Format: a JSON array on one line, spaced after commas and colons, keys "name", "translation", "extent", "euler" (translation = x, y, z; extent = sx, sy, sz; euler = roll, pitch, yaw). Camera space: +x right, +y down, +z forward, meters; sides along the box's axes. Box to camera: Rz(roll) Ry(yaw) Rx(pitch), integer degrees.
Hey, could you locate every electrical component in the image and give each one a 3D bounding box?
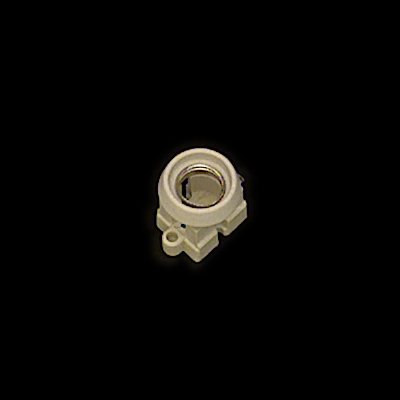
[{"name": "electrical component", "translation": [0.000, 0.000, 0.638], "extent": [0.048, 0.067, 0.055], "euler": [41, -20, 16]}]
